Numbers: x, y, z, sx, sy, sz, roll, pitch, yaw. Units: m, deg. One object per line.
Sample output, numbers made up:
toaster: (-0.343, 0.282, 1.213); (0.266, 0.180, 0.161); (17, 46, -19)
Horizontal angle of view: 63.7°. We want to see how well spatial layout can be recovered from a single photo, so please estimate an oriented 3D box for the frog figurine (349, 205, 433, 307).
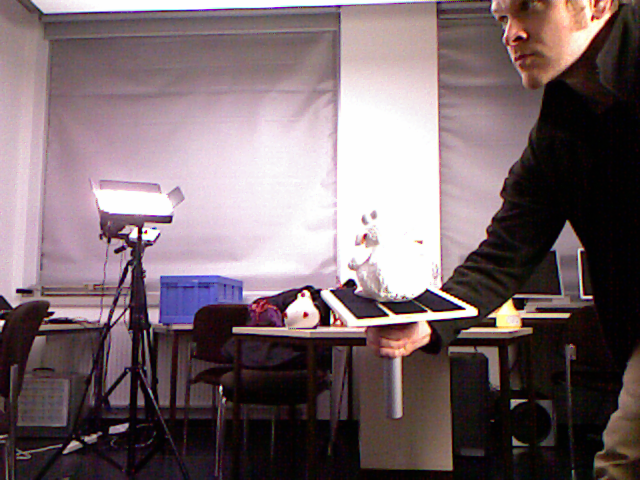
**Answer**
frog figurine: (0.117, 0.024, 0.851); (0.137, 0.158, 0.124); (0, 13, 6)
